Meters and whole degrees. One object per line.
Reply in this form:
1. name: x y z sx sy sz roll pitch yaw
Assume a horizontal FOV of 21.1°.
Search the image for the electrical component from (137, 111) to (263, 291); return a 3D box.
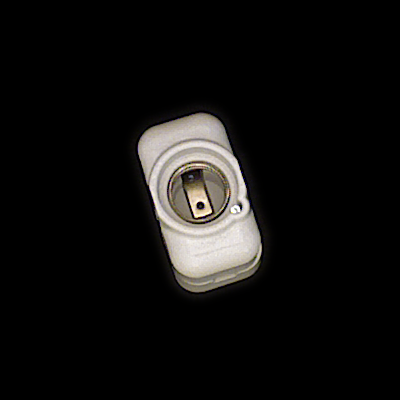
1. electrical component: 0.000 0.000 0.634 0.054 0.095 0.059 -18 -15 -4
